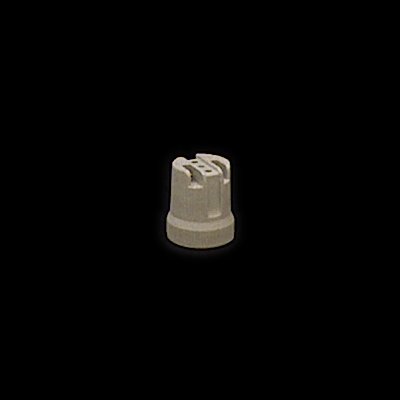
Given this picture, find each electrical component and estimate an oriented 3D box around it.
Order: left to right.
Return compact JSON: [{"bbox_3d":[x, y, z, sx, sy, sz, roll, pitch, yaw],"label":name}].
[{"bbox_3d":[0.000,0.000,0.640,0.040,0.046,0.040,0,21,0],"label":"electrical component"}]
